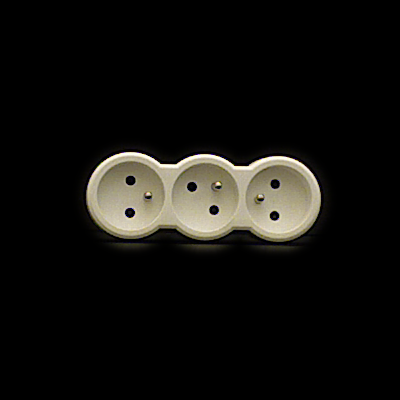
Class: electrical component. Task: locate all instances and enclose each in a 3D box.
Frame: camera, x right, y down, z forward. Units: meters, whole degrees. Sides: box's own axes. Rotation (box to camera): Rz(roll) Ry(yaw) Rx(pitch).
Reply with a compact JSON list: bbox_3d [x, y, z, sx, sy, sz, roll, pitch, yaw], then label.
[{"bbox_3d":[0.001,0.000,0.660,0.138,0.052,0.073,1,0,-5],"label":"electrical component"}]
